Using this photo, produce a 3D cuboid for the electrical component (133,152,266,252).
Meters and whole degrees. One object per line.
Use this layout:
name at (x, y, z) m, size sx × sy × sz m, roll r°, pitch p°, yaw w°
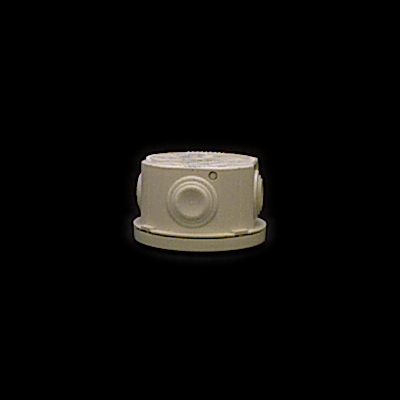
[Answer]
electrical component at (0.000, 0.000, 0.646) m, size 0.080 × 0.051 × 0.079 m, roll 1°, pitch 10°, yaw 0°
